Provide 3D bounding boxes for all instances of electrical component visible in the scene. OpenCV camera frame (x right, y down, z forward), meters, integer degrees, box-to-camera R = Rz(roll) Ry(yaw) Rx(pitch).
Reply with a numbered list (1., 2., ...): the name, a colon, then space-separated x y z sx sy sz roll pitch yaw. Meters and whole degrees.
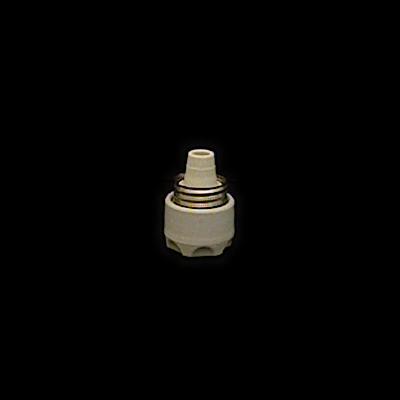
1. electrical component: 0.000 0.000 0.647 0.043 0.063 0.043 2 21 0
